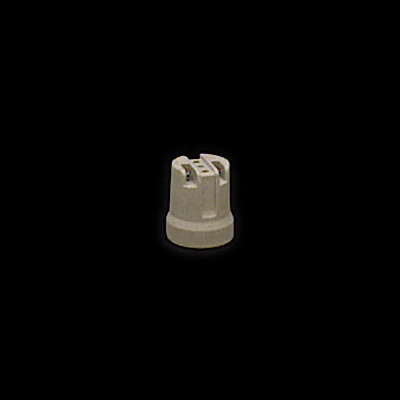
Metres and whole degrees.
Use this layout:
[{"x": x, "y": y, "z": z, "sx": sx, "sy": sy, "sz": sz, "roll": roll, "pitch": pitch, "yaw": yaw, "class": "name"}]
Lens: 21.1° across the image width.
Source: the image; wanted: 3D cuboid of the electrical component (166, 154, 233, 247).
[{"x": 0.000, "y": 0.000, "z": 0.640, "sx": 0.040, "sy": 0.046, "sz": 0.040, "roll": 1, "pitch": 21, "yaw": 0, "class": "electrical component"}]
